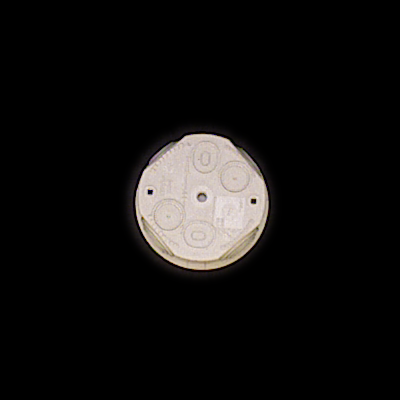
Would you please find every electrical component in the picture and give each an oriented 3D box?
[{"bbox_3d":[0.000,0.000,0.633,0.080,0.080,0.050,0,-7,0],"label":"electrical component"}]
